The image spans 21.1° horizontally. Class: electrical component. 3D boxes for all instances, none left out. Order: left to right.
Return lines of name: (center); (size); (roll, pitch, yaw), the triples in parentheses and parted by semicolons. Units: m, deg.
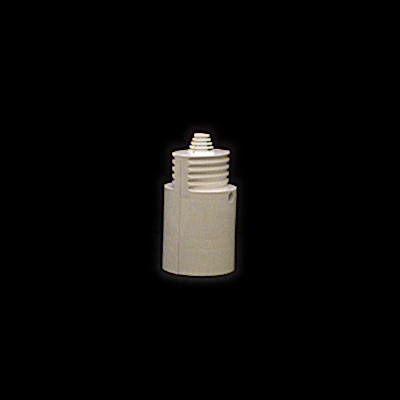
electrical component: (0.000, 0.000, 0.642); (0.043, 0.081, 0.043); (1, 11, 0)
